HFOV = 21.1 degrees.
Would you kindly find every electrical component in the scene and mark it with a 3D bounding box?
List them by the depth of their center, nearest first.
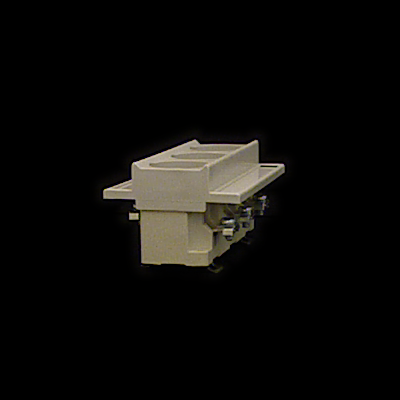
[{"bbox_3d":[0.000,0.000,0.656,0.078,0.063,0.121,3,11,16],"label":"electrical component"}]
